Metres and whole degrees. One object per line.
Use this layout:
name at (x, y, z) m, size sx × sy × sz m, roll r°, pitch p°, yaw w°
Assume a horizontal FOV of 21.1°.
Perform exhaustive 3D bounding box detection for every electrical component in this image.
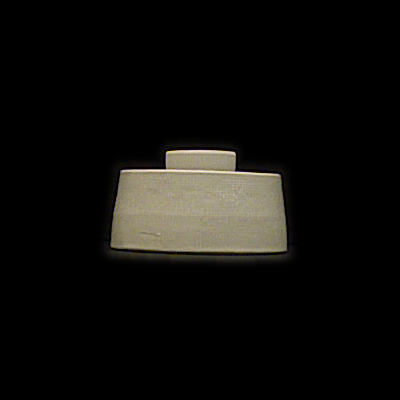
electrical component at (0.000, 0.000, 0.658) m, size 0.108 × 0.060 × 0.108 m, roll 1°, pitch 0°, yaw 1°
